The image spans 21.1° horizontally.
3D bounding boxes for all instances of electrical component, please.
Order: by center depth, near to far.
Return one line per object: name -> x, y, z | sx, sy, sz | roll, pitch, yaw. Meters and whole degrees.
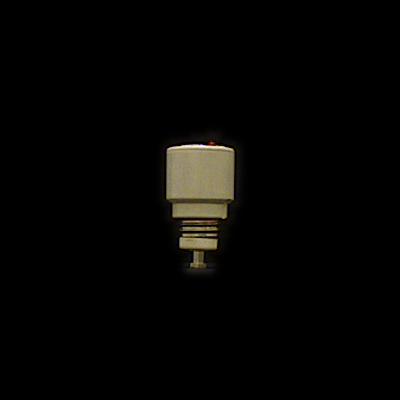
electrical component -> 0.000, 0.000, 0.651 | 0.040, 0.078, 0.040 | 1, 1, 0
